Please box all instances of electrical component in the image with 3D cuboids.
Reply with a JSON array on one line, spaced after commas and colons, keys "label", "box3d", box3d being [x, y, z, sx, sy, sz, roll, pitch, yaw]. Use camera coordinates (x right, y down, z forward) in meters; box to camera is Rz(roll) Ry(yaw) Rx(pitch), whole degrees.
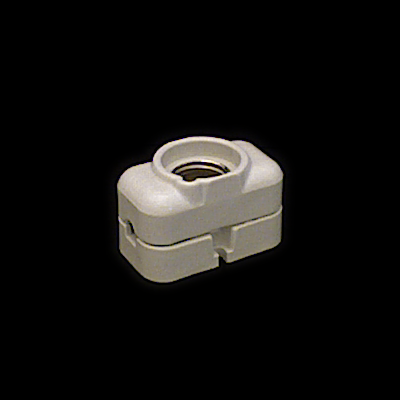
[{"label": "electrical component", "box3d": [0.000, 0.000, 0.640, 0.095, 0.060, 0.053, -17, 36, -26]}]
